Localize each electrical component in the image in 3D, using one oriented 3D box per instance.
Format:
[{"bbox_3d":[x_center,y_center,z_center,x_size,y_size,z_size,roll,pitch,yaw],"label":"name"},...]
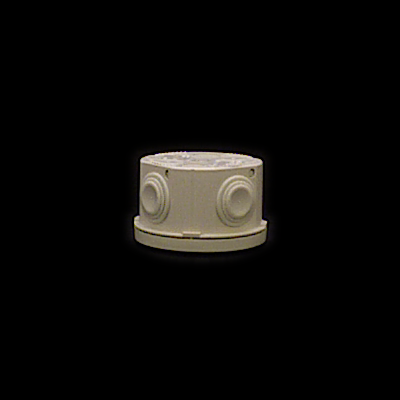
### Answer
[{"bbox_3d":[0.000,0.000,0.645,0.080,0.051,0.079,1,10,0],"label":"electrical component"}]
